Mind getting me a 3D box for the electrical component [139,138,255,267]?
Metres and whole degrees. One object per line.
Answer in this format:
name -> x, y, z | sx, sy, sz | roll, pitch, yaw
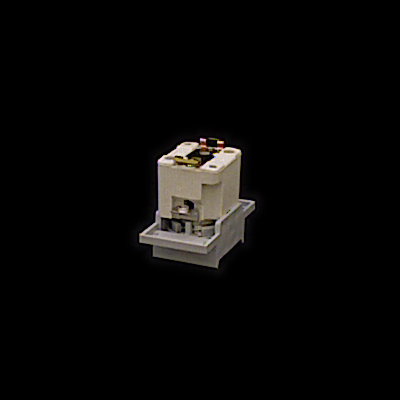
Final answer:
electrical component -> 0.000, 0.000, 0.638 | 0.042, 0.064, 0.080 | 9, 22, 20
